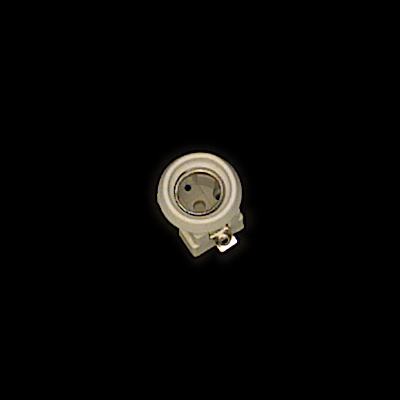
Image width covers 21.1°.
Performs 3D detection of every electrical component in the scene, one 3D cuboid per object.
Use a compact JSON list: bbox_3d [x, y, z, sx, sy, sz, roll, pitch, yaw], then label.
[{"bbox_3d":[0.000,0.000,0.637,0.048,0.066,0.055,-34,-13,-7],"label":"electrical component"}]
